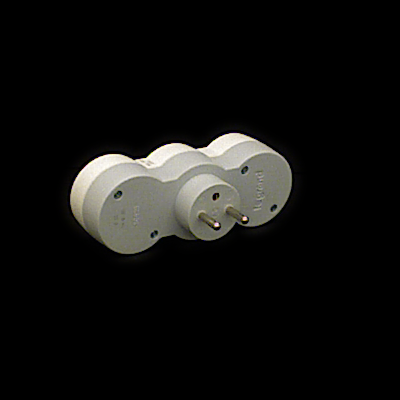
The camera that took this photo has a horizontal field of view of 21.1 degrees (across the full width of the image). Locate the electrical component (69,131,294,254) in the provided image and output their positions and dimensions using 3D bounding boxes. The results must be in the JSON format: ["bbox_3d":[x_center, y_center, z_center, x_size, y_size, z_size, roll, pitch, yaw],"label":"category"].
[{"bbox_3d":[0.000,0.000,0.644,0.139,0.053,0.072,-12,27,-30],"label":"electrical component"}]
